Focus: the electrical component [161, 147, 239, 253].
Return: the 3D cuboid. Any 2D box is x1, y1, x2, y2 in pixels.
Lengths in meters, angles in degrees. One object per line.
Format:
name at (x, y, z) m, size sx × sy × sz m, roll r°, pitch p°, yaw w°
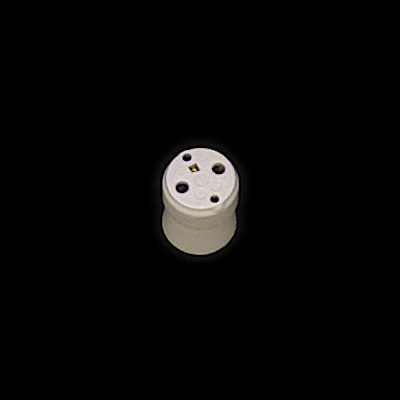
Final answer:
electrical component at (0.000, 0.000, 0.629) m, size 0.045 × 0.045 × 0.055 m, roll 0°, pitch -27°, yaw -1°
